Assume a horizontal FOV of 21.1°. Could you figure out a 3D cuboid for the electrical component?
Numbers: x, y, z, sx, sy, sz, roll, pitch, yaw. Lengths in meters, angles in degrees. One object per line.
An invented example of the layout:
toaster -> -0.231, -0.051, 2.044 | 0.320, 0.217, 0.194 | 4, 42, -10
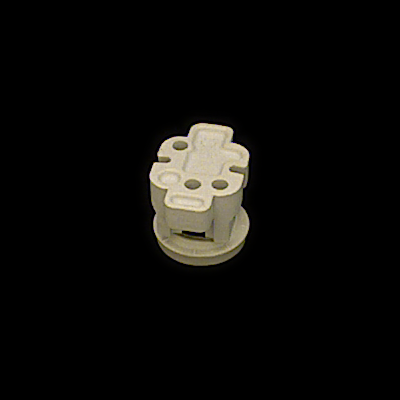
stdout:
electrical component -> 0.000, 0.000, 0.640 | 0.057, 0.057, 0.078 | 7, 42, 8
